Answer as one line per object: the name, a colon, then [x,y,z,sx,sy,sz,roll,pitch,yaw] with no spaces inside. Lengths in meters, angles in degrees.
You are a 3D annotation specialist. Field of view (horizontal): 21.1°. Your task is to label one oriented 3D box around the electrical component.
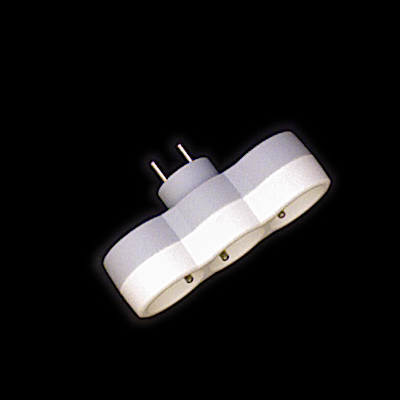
electrical component: [0.000,0.000,0.630,0.138,0.074,0.052,-35,-16,-9]
